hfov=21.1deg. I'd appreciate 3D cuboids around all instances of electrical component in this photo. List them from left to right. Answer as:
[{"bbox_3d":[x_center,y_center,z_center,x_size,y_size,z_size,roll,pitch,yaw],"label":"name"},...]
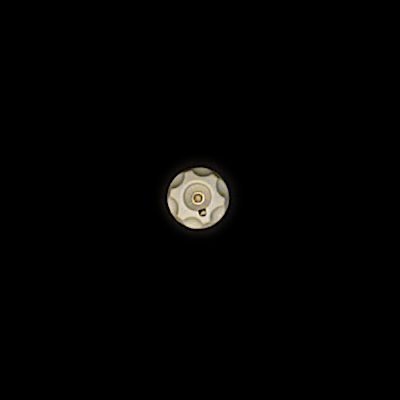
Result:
[{"bbox_3d":[0.000,0.000,0.634,0.035,0.035,0.061,0,-5,1],"label":"electrical component"}]
